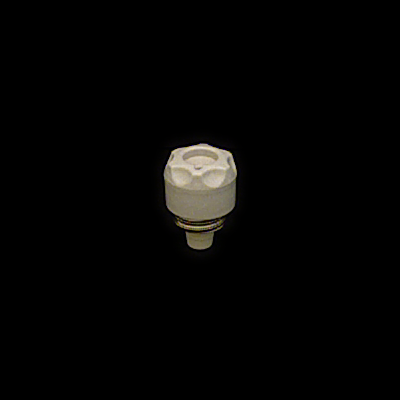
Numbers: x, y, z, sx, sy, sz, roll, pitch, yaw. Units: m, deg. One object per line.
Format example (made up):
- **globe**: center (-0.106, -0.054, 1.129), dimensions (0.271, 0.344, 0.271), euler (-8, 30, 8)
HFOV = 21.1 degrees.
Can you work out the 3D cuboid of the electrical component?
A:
- **electrical component**: center (0.000, 0.000, 0.642), dimensions (0.043, 0.063, 0.043), euler (1, 31, 0)
